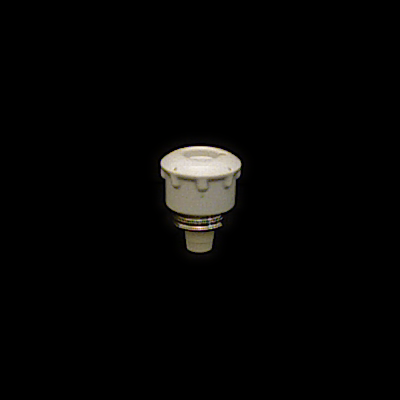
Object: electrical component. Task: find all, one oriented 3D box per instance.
[{"bbox_3d":[0.000,0.000,0.648,0.048,0.063,0.047,1,22,0],"label":"electrical component"}]
